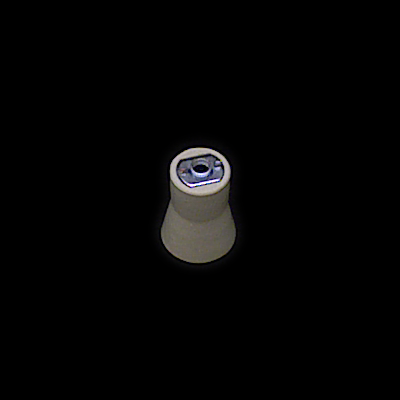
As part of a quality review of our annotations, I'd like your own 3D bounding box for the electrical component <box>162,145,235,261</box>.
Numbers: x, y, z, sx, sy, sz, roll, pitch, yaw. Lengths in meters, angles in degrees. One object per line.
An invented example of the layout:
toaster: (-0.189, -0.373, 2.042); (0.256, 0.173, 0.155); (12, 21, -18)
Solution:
electrical component: (0.000, 0.000, 0.625); (0.044, 0.044, 0.065); (0, -37, -1)
